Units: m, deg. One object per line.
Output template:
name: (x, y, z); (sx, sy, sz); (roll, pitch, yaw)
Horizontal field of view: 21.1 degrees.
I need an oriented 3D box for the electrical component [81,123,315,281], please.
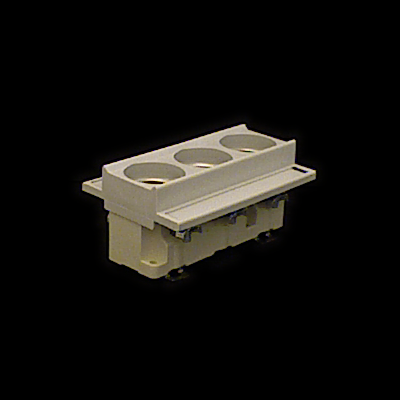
electrical component: (0.000, 0.000, 0.651); (0.078, 0.064, 0.121); (22, 29, 39)
